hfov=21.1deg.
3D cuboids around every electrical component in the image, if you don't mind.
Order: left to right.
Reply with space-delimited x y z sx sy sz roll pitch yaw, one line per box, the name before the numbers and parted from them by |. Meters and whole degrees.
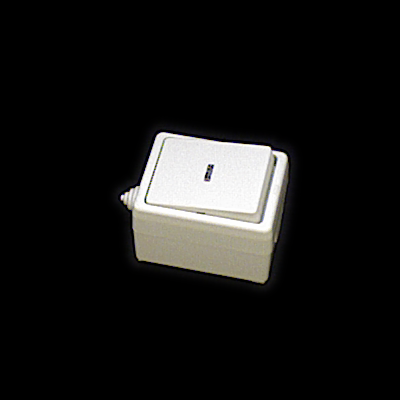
electrical component | 0.000 0.000 0.628 0.096 0.061 0.061 10 -37 7
